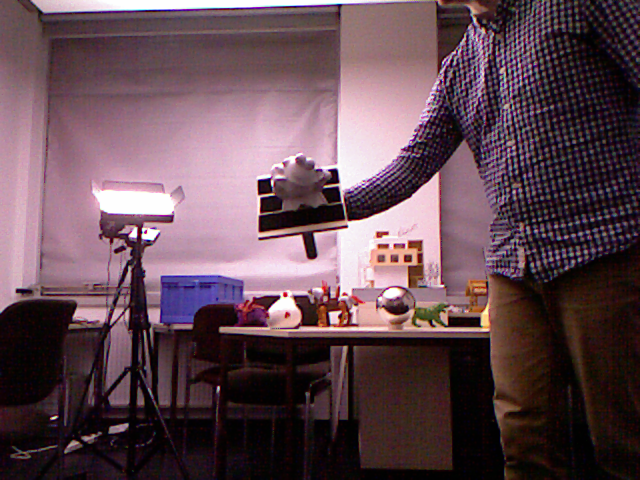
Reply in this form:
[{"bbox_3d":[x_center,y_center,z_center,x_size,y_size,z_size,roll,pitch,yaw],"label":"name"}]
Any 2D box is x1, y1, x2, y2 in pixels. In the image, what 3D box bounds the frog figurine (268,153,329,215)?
[{"bbox_3d":[-0.050,-0.144,1.141,0.137,0.126,0.156,4,-38,10],"label":"frog figurine"}]
